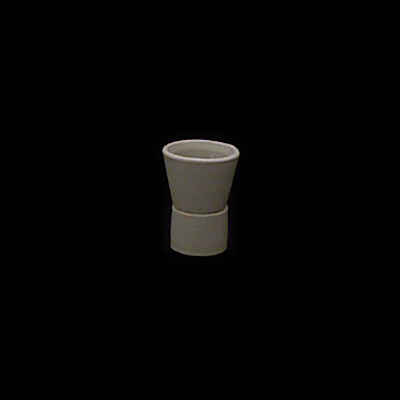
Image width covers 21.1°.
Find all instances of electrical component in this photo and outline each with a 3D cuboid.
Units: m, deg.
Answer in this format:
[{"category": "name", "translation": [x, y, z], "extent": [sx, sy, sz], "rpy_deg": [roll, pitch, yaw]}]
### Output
[{"category": "electrical component", "translation": [0.000, 0.000, 0.640], "extent": [0.044, 0.066, 0.044], "rpy_deg": [1, 20, 0]}]
